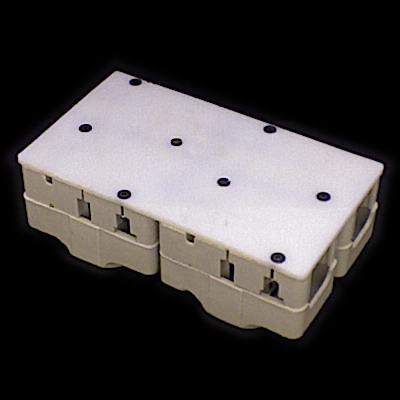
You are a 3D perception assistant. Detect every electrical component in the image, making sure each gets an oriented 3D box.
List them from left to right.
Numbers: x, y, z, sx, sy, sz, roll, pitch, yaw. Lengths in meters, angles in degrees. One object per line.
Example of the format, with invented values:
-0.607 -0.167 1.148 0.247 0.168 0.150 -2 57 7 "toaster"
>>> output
0.000 0.000 0.630 0.185 0.061 0.105 22 46 21 "electrical component"
